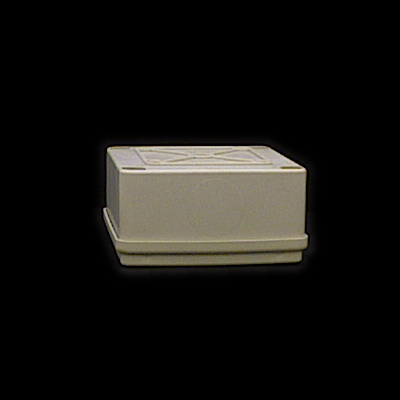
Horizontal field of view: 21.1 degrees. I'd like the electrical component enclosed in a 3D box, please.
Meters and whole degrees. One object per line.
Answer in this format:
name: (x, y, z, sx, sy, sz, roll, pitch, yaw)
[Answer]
electrical component: (0.000, 0.000, 0.641, 0.109, 0.056, 0.107, -1, 11, -9)
